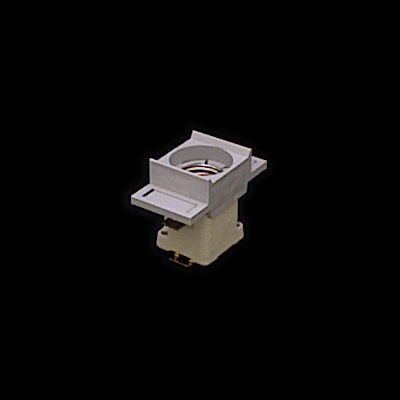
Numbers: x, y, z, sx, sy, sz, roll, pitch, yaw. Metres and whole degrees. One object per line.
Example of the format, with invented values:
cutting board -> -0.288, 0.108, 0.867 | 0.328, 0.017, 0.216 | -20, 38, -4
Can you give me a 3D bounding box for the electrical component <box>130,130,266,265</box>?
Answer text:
electrical component -> 0.000, 0.000, 0.635 | 0.042, 0.064, 0.080 | 20, 36, 30
